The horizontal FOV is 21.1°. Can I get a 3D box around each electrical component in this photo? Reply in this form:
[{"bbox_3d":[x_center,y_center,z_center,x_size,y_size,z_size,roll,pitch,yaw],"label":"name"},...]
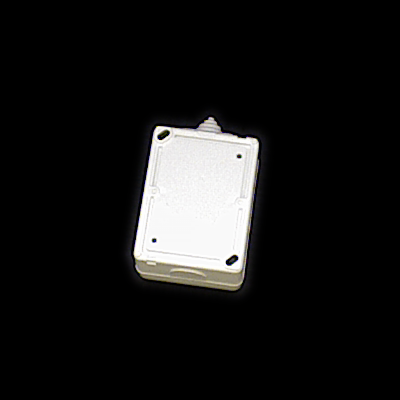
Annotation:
[{"bbox_3d":[0.000,0.000,0.628,0.062,0.096,0.061,7,-17,3],"label":"electrical component"}]
